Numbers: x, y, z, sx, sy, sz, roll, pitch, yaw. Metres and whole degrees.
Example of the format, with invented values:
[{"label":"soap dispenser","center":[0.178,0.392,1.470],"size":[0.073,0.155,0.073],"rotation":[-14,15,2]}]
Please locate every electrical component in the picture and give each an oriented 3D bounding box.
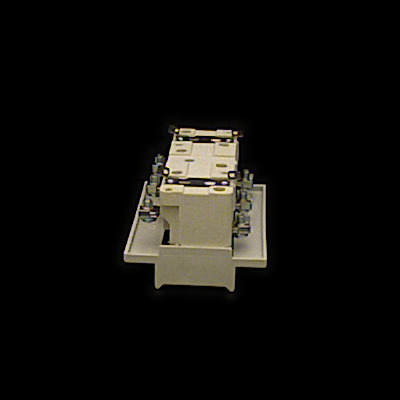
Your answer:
[{"label":"electrical component","center":[0.000,0.000,0.646],"size":[0.079,0.064,0.120],"rotation":[2,22,2]}]
